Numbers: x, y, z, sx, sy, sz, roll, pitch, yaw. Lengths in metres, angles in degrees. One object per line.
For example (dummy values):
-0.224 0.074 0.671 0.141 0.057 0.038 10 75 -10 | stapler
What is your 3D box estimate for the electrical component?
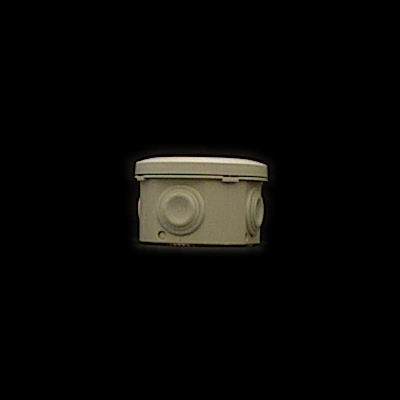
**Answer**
0.000 0.000 0.650 0.080 0.051 0.080 1 0 0 | electrical component
